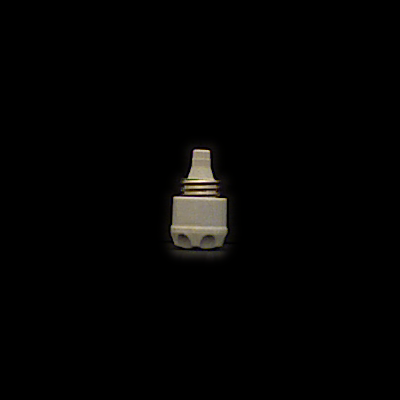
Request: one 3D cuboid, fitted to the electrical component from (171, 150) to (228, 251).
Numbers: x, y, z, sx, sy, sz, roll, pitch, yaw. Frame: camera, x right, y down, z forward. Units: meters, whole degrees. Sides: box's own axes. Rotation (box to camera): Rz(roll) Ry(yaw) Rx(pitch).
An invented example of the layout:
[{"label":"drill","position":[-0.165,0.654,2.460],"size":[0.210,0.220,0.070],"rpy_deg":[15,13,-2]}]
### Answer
[{"label":"electrical component","position":[0.000,0.000,0.664],"size":[0.035,0.061,0.035],"rpy_deg":[2,3,0]}]
